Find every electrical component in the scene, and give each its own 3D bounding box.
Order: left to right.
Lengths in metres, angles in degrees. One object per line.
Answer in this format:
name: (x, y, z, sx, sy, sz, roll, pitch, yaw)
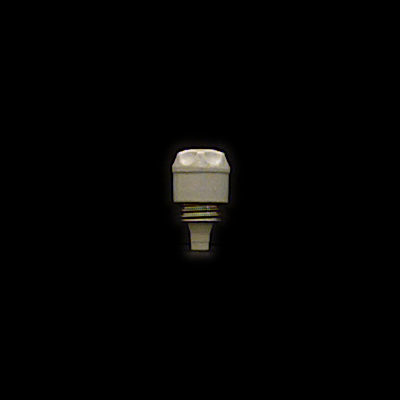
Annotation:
electrical component: (0.000, 0.000, 0.656, 0.035, 0.061, 0.035, 1, 2, 1)
